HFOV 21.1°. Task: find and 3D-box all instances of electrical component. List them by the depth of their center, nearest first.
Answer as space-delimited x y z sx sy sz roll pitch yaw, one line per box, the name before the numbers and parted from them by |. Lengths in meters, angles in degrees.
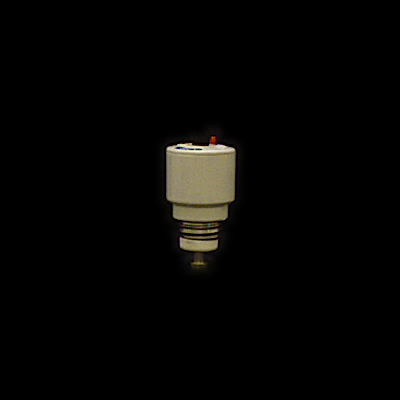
electrical component | 0.000 0.000 0.644 0.040 0.079 0.040 1 11 0
